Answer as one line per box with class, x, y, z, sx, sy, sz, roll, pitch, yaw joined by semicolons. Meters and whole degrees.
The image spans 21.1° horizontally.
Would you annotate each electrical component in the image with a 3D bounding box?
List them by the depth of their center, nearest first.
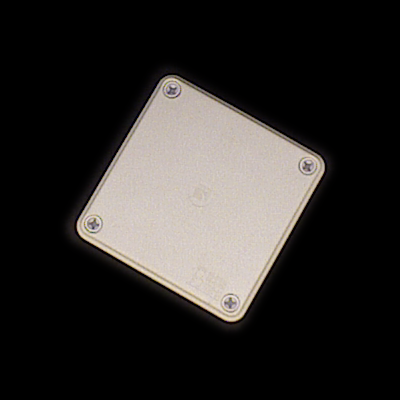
electrical component;0.000;0.000;0.631;0.109;0.109;0.056;30;-6;4
